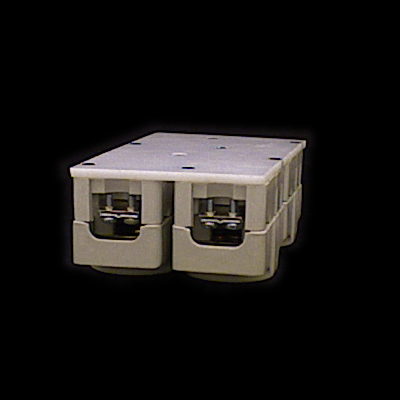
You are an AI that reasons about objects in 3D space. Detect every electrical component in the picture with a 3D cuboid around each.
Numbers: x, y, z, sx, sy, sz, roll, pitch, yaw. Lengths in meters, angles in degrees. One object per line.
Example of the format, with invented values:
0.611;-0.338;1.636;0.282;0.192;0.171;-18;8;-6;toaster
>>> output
0.000;0.000;0.644;0.105;0.061;0.185;3;10;12;electrical component
